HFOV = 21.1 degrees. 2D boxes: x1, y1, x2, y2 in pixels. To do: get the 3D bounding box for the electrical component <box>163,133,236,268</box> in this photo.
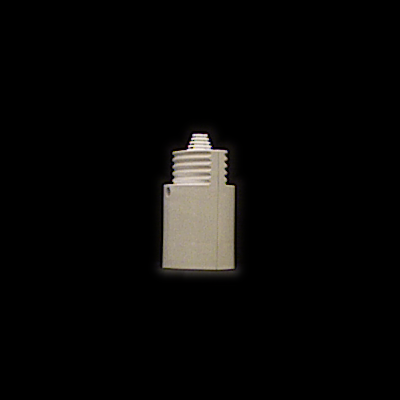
[{"bbox_3d":[0.000,0.000,0.650,0.043,0.081,0.043,1,1,0],"label":"electrical component"}]
